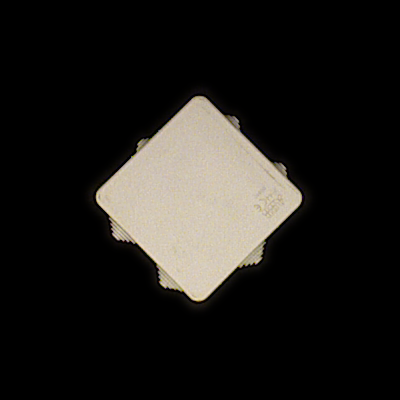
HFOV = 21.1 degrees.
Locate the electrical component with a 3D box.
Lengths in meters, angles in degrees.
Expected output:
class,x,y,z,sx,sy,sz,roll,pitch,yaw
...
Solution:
class,x,y,z,sx,sy,sz,roll,pitch,yaw
electrical component,0.000,0.000,0.642,0.100,0.100,0.048,-44,-4,-5
